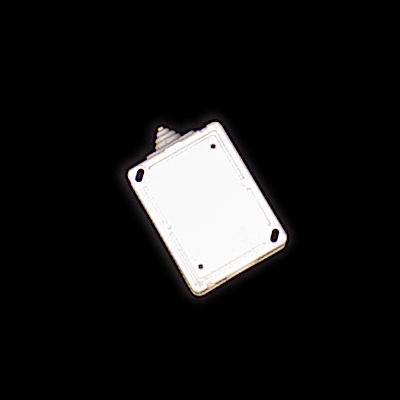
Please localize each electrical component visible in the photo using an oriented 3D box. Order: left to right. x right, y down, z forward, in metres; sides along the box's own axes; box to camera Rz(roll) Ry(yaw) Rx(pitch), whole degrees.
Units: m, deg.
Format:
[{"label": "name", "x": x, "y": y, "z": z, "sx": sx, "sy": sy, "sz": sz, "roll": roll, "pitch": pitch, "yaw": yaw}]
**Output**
[{"label": "electrical component", "x": 0.000, "y": 0.000, "z": 0.629, "sx": 0.062, "sy": 0.096, "sz": 0.061, "roll": -30, "pitch": -7, "yaw": -3}]
